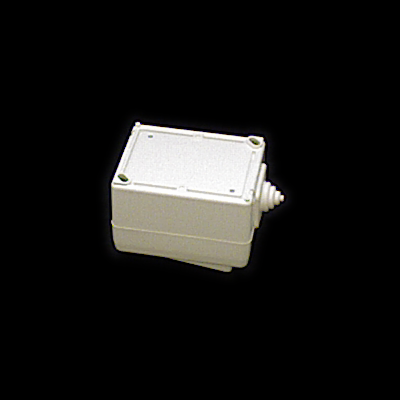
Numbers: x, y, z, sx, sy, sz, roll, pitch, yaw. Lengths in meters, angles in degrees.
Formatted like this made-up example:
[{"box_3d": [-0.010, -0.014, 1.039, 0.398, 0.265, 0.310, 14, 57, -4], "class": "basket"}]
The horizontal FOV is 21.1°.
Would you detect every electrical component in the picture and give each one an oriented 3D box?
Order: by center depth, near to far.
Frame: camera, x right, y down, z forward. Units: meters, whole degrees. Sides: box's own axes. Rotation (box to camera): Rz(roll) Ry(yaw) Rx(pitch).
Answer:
[{"box_3d": [0.000, 0.000, 0.631, 0.096, 0.061, 0.061, 7, 41, 8], "class": "electrical component"}]
